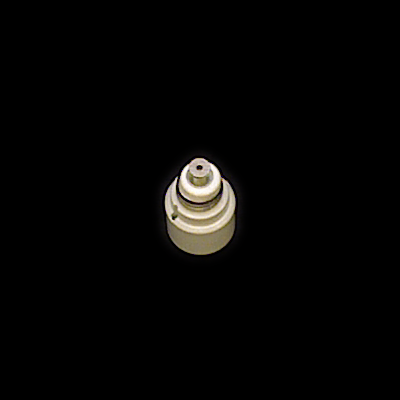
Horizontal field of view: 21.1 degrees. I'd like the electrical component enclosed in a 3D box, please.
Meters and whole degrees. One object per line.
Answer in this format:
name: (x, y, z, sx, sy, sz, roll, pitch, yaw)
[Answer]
electrical component: (0.000, 0.000, 0.619, 0.040, 0.040, 0.078, 0, -26, 0)
